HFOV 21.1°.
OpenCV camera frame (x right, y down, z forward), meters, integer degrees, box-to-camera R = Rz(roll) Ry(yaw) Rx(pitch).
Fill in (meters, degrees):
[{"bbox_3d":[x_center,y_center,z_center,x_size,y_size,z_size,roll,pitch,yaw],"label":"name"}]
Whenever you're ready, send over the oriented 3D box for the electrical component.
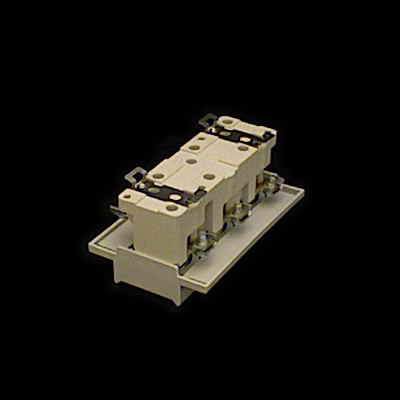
[{"bbox_3d":[0.000,0.000,0.641,0.078,0.064,0.121,18,36,25],"label":"electrical component"}]
